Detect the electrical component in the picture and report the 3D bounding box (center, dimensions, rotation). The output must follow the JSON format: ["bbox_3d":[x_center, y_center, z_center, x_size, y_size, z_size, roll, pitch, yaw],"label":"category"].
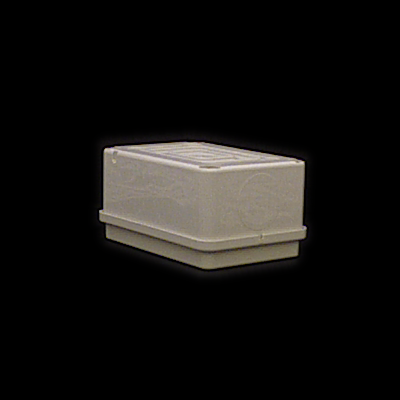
[{"bbox_3d":[0.000,0.000,0.644,0.078,0.057,0.112,-7,13,-37],"label":"electrical component"}]
